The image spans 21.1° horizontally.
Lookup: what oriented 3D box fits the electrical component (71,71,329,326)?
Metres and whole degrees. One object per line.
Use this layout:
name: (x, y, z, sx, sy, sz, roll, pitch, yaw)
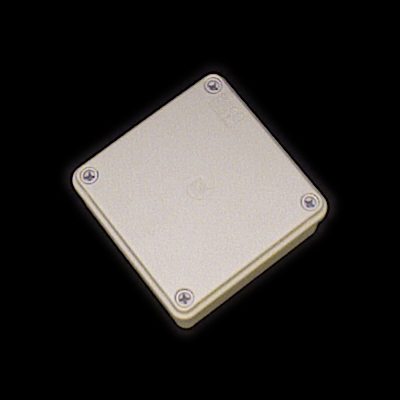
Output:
electrical component: (0.000, 0.000, 0.629, 0.109, 0.109, 0.056, -37, -13, -10)
